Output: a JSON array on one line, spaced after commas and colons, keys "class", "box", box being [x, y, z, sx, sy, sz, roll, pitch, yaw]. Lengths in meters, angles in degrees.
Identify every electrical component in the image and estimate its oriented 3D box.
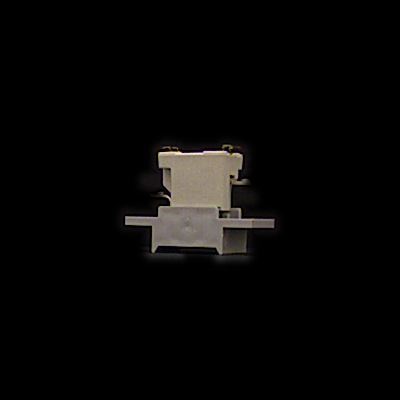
[{"class": "electrical component", "box": [0.000, 0.000, 0.649, 0.080, 0.064, 0.042, 2, 1, 21]}]
